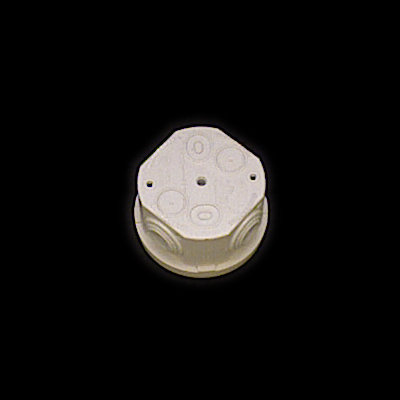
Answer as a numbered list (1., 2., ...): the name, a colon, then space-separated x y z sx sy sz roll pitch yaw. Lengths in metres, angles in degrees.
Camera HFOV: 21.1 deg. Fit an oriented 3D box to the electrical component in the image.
1. electrical component: 0.000 0.000 0.632 0.080 0.080 0.050 0 -27 -1
